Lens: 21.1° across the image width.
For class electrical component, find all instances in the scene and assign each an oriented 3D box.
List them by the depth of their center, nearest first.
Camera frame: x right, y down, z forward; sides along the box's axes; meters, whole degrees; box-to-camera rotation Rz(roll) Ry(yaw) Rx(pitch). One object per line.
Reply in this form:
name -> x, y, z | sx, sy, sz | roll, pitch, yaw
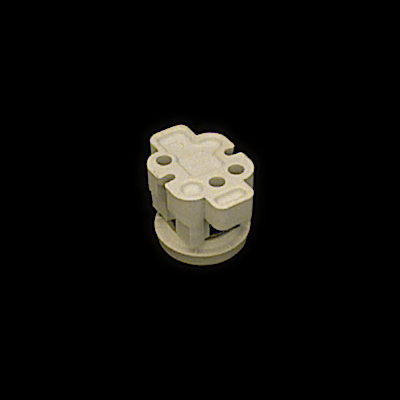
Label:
electrical component -> 0.000, 0.000, 0.639 | 0.058, 0.057, 0.077 | -25, 47, -24
